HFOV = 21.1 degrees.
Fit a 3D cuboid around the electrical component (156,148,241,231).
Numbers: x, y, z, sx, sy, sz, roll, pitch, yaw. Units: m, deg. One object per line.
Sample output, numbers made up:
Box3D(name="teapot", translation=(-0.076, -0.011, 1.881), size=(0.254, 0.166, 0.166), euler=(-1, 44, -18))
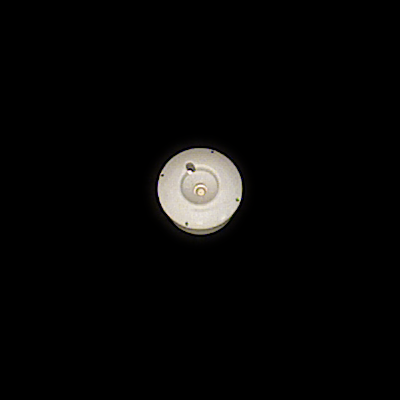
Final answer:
Box3D(name="electrical component", translation=(0.000, 0.000, 0.633), size=(0.048, 0.048, 0.061), euler=(0, -16, 1))
